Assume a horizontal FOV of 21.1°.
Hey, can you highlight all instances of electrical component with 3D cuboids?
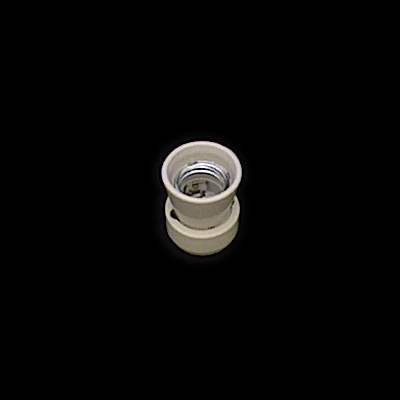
[{"bbox_3d":[0.000,0.000,0.630,0.045,0.044,0.055,0,-38,0],"label":"electrical component"}]
